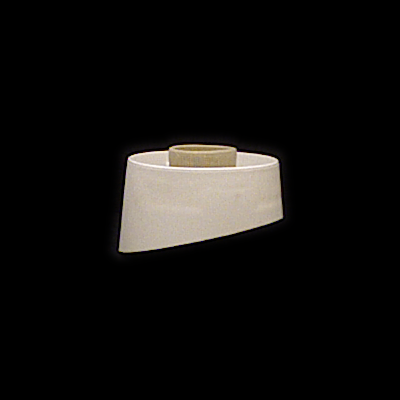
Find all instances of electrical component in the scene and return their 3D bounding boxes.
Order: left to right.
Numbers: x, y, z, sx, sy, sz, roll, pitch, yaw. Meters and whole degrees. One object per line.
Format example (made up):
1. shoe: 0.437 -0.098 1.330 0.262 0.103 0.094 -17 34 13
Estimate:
1. electrical component: 0.000 0.000 0.644 0.099 0.064 0.098 1 10 0
